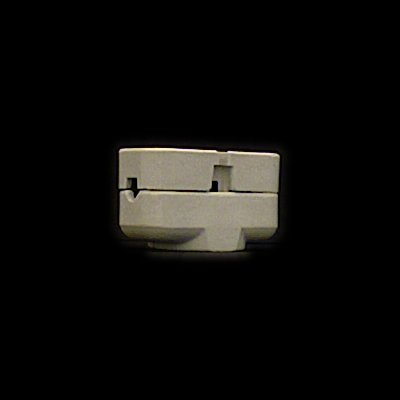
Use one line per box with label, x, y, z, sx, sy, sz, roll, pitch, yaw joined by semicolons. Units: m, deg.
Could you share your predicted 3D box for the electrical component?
electrical component;0.000;0.000;0.658;0.096;0.059;0.053;0;2;-33
